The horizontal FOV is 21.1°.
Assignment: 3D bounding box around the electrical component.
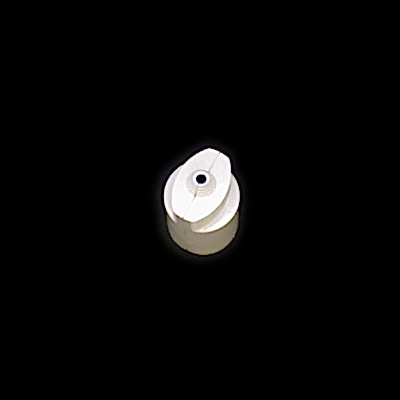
[{"bbox_3d":[0.000,0.000,0.616,0.043,0.043,0.080,0,-17,0],"label":"electrical component"}]
